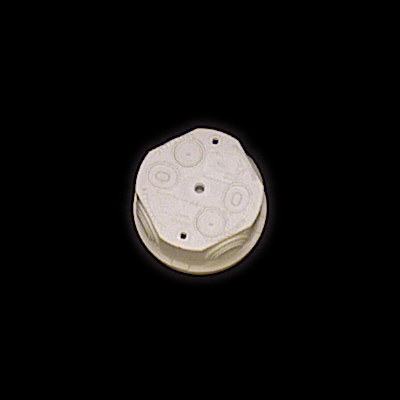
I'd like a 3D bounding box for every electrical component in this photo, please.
[{"bbox_3d":[0.000,0.000,0.632,0.080,0.080,0.050,0,-18,0],"label":"electrical component"}]
